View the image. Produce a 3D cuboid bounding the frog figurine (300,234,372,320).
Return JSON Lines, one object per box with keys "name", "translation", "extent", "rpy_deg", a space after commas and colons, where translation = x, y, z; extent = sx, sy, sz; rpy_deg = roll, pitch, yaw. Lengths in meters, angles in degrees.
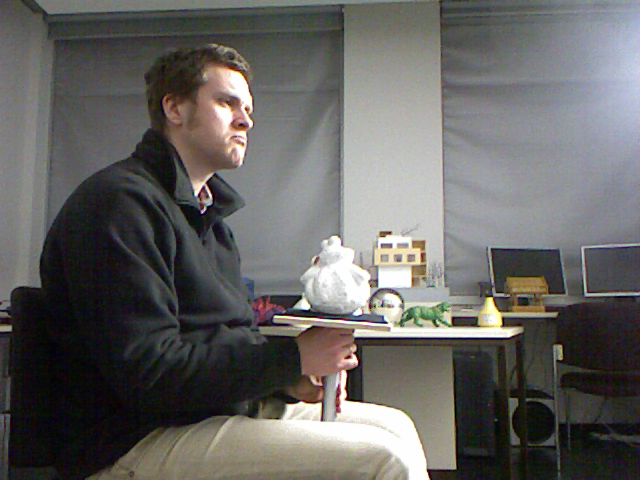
{"name": "frog figurine", "translation": [0.032, 0.069, 0.985], "extent": [0.137, 0.160, 0.123], "rpy_deg": [2, 0, 26]}
